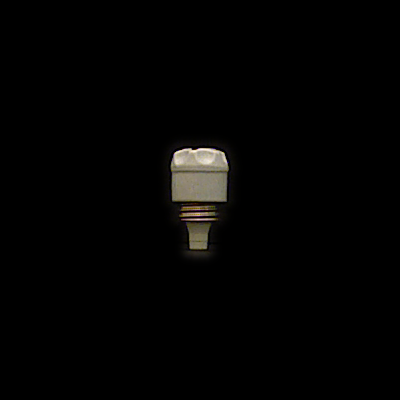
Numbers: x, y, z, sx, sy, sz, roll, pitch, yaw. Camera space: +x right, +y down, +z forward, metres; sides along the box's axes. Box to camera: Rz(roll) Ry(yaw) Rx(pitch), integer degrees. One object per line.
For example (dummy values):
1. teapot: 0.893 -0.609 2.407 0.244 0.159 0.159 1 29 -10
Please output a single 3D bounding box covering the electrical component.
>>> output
1. electrical component: 0.000 0.000 0.655 0.035 0.061 0.035 1 2 1
